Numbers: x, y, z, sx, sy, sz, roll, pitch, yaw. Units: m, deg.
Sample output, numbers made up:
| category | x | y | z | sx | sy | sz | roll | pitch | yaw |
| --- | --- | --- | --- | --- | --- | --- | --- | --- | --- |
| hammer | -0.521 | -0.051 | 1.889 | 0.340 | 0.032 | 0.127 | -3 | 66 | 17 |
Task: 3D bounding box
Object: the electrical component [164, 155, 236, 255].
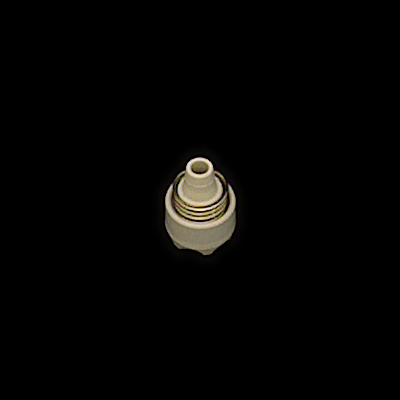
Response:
| category | x | y | z | sx | sy | sz | roll | pitch | yaw |
| --- | --- | --- | --- | --- | --- | --- | --- | --- | --- |
| electrical component | 0.000 | 0.000 | 0.636 | 0.043 | 0.043 | 0.062 | 0 | -38 | 0 |
